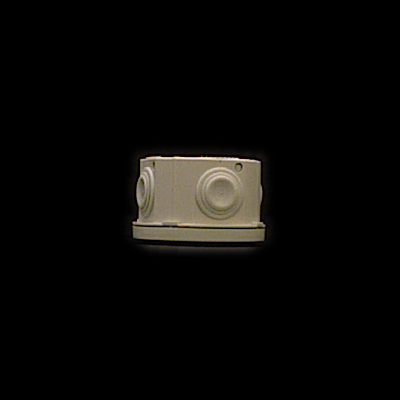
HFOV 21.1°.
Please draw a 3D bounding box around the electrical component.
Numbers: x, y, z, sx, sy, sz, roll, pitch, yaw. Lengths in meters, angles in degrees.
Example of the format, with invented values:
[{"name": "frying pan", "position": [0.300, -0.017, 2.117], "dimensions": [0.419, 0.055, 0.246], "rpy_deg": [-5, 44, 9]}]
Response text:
[{"name": "electrical component", "position": [0.000, 0.000, 0.648], "dimensions": [0.080, 0.051, 0.080], "rpy_deg": [1, 1, 0]}]
